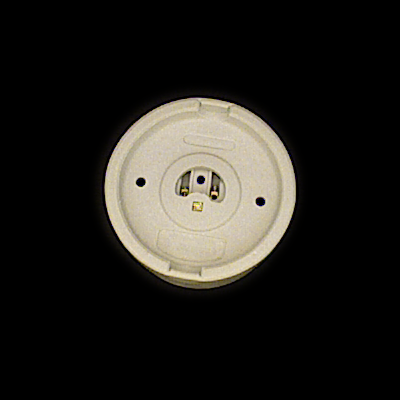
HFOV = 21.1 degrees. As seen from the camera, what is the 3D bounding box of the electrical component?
[{"bbox_3d":[0.000,0.000,0.633,0.108,0.108,0.060,0,-17,0],"label":"electrical component"}]
